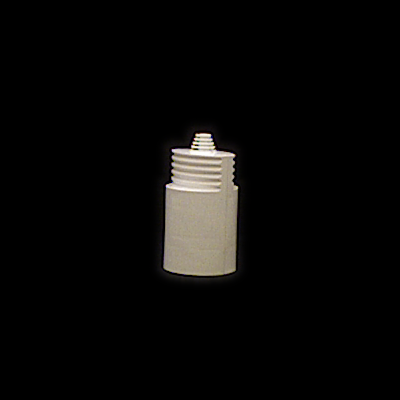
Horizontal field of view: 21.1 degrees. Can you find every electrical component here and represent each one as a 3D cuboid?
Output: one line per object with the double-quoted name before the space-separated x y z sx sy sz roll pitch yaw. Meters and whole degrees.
"electrical component" 0.000 0.000 0.642 0.043 0.081 0.043 1 11 0
